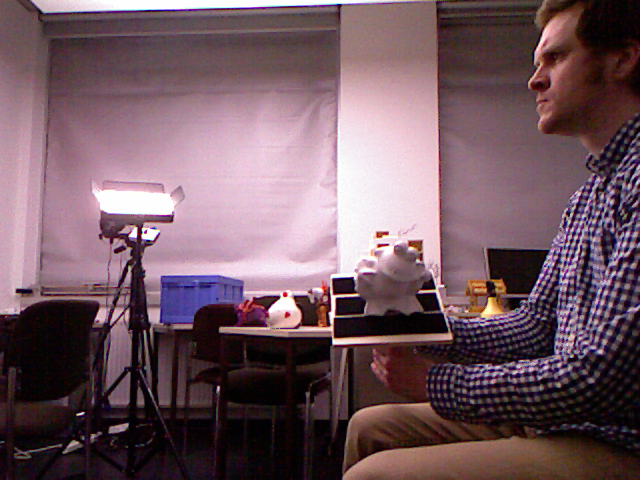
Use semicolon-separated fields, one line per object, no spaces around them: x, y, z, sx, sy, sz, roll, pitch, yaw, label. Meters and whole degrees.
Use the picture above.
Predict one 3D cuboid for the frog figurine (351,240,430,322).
0.124;0.054;0.907;0.137;0.156;0.126;5;36;12;frog figurine
